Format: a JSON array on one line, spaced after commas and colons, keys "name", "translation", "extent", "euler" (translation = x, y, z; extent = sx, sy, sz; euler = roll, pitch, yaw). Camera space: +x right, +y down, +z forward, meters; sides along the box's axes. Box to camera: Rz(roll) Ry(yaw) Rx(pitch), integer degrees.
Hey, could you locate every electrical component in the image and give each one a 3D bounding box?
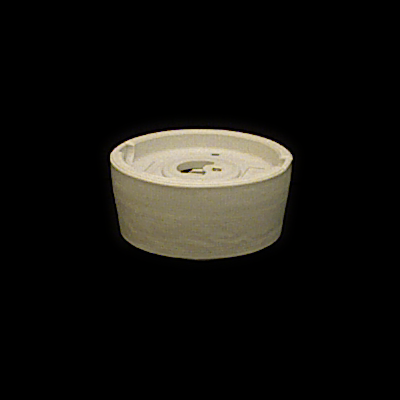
[{"name": "electrical component", "translation": [0.000, 0.000, 0.647], "extent": [0.108, 0.061, 0.106], "euler": [1, 21, 0]}]
